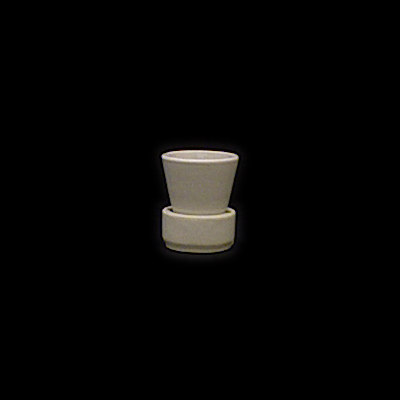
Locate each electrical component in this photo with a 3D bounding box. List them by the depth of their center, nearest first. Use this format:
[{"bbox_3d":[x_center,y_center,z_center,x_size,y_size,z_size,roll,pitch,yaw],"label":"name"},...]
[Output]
[{"bbox_3d":[0.000,0.000,0.643,0.045,0.055,0.044,1,12,0],"label":"electrical component"}]
